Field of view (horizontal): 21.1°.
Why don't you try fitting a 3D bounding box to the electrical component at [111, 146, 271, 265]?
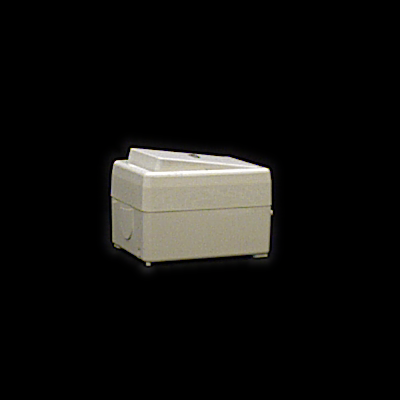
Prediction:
[{"bbox_3d":[0.000,0.000,0.645,0.096,0.061,0.061,-3,11,-23],"label":"electrical component"}]
